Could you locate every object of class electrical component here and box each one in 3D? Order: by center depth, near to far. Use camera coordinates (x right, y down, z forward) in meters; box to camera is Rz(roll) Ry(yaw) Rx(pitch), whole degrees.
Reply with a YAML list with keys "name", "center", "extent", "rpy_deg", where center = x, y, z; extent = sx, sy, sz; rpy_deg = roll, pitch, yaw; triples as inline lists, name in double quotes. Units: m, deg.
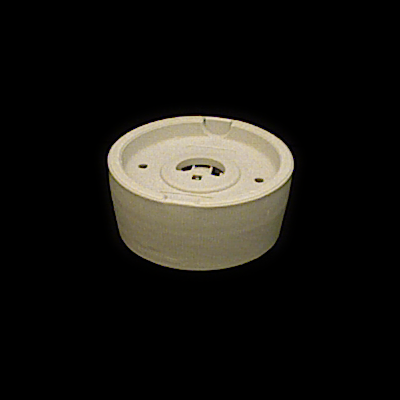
- name: "electrical component"
  center: [0.000, 0.000, 0.638]
  extent: [0.108, 0.061, 0.106]
  rpy_deg: [1, 31, 0]
